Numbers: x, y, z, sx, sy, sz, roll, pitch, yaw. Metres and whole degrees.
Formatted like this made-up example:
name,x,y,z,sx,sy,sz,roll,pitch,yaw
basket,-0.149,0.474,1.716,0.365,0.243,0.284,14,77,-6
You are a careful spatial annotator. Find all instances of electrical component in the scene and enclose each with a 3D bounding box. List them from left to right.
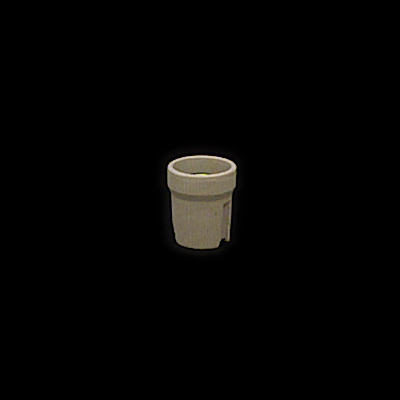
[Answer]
name,x,y,z,sx,sy,sz,roll,pitch,yaw
electrical component,0.000,0.000,0.641,0.040,0.047,0.039,1,21,0
